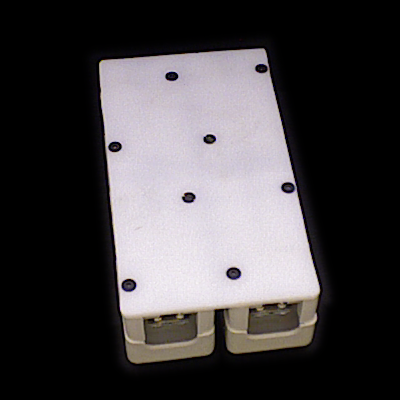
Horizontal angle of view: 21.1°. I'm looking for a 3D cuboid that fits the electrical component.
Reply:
[{"bbox_3d":[0.000,0.000,0.627,0.105,0.185,0.060,-6,-37,-5],"label":"electrical component"}]
